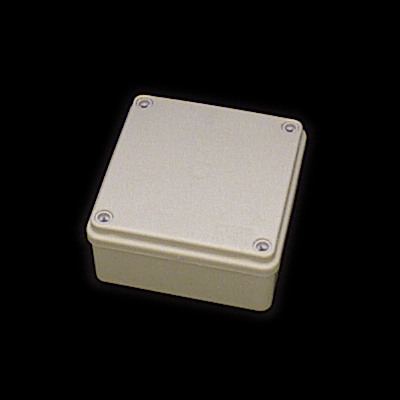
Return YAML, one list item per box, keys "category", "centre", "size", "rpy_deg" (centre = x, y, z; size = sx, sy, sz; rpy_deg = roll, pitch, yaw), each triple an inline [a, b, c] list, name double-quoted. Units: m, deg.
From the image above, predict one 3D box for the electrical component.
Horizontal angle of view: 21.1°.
- category: "electrical component"
  centre: [0.000, 0.000, 0.631]
  size: [0.108, 0.108, 0.056]
  rpy_deg: [10, -38, 7]
